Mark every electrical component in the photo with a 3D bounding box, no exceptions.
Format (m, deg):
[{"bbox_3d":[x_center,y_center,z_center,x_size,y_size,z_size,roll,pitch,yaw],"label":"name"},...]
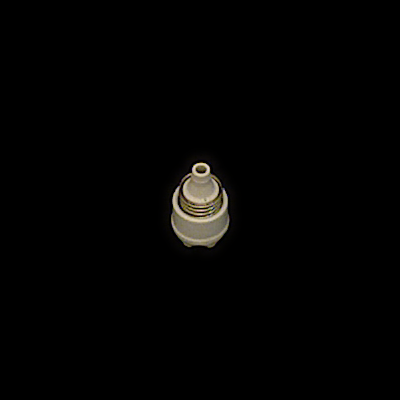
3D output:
[{"bbox_3d":[0.000,0.000,0.641,0.035,0.035,0.062,0,-36,-1],"label":"electrical component"}]
